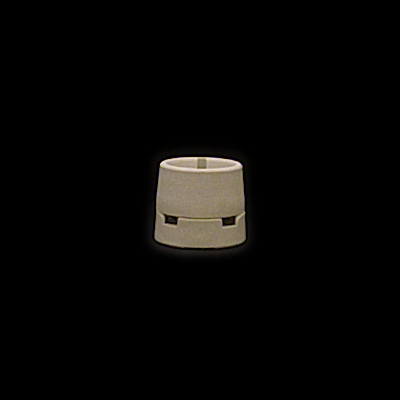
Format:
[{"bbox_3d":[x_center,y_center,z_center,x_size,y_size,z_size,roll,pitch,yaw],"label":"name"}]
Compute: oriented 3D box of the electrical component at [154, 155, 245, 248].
[{"bbox_3d":[0.000,0.000,0.644,0.055,0.047,0.055,1,12,0],"label":"electrical component"}]
